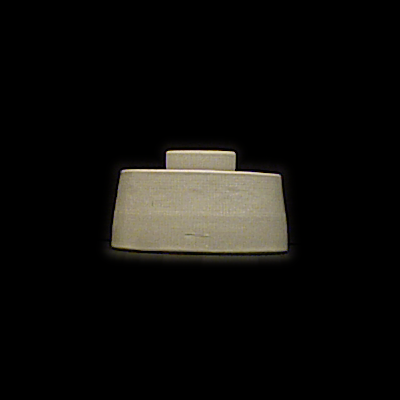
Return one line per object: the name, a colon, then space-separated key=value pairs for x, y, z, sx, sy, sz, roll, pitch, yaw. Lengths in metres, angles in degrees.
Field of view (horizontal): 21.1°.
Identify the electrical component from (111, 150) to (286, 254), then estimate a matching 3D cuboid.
electrical component: x=0.000 y=0.000 z=0.658 sx=0.108 sy=0.060 sz=0.108 roll=1 pitch=1 yaw=1
